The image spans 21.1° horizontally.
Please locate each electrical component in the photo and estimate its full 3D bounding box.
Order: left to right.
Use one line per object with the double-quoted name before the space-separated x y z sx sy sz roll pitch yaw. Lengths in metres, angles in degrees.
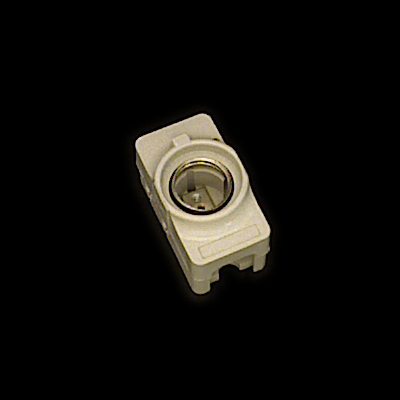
"electrical component" 0.000 0.000 0.636 0.050 0.089 0.055 -23 -24 -11
